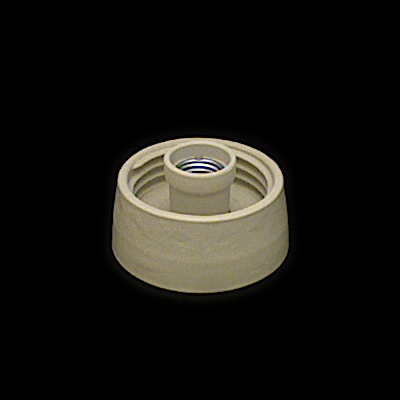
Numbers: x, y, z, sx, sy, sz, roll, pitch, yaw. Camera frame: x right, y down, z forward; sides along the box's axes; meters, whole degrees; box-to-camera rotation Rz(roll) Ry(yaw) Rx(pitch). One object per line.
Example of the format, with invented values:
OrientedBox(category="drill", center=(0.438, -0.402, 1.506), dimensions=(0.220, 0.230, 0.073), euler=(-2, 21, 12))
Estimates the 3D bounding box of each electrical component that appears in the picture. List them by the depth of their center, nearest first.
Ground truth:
OrientedBox(category="electrical component", center=(0.000, 0.000, 0.642), dimensions=(0.108, 0.061, 0.106), euler=(1, 32, 0))
